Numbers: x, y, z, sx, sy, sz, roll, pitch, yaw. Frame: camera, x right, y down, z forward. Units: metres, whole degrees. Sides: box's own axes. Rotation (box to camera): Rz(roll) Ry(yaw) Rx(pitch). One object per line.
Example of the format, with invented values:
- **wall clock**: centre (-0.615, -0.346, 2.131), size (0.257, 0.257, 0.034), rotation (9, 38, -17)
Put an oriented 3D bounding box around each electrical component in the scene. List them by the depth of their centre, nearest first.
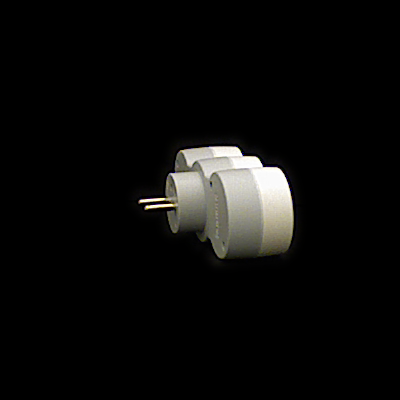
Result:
- **electrical component**: centre (0.000, 0.000, 0.652), size (0.074, 0.052, 0.136), rotation (-3, 12, -14)
